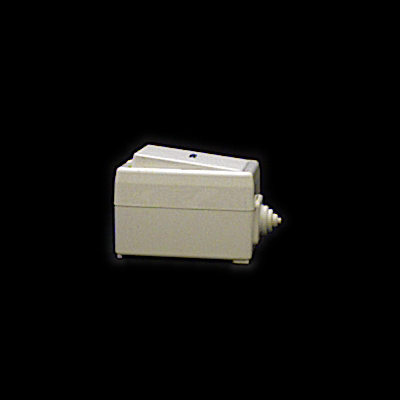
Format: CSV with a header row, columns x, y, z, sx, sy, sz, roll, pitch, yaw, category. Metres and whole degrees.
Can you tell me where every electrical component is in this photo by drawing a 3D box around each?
x,y,z,sx,sy,sz,roll,pitch,yaw,category
0.000,0.000,0.643,0.096,0.061,0.061,2,11,6,electrical component
